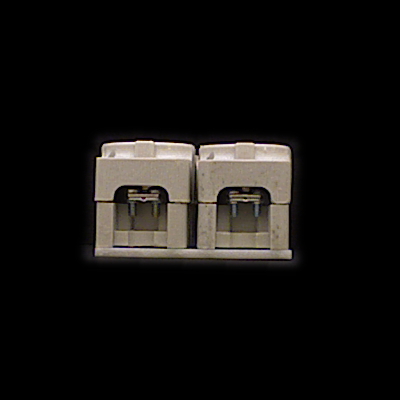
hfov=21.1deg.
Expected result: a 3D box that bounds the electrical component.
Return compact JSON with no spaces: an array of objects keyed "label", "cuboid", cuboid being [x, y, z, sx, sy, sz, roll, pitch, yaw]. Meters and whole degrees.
[{"label":"electrical component","cuboid":[-0.001,0.000,0.650,0.105,0.060,0.186,1,0,2]}]
